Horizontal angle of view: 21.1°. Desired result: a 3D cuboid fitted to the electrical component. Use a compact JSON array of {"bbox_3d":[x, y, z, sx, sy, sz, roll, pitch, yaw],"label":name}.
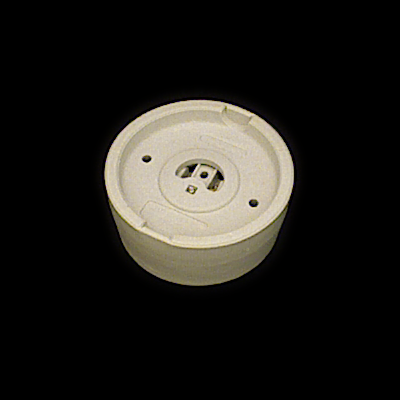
[{"bbox_3d":[0.000,0.000,0.633,0.108,0.107,0.060,0,-37,-1],"label":"electrical component"}]
